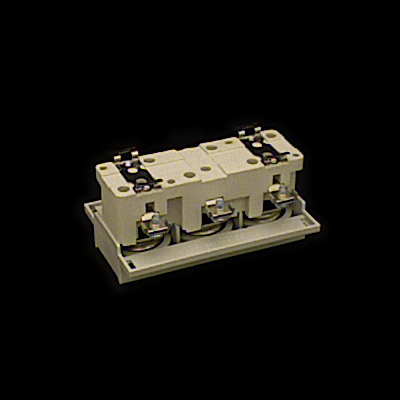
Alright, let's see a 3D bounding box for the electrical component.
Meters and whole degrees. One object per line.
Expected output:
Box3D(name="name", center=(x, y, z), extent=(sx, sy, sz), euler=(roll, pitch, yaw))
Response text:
Box3D(name="electrical component", center=(0.000, 0.000, 0.643), extent=(0.122, 0.064, 0.077), euler=(-13, 34, -21))
